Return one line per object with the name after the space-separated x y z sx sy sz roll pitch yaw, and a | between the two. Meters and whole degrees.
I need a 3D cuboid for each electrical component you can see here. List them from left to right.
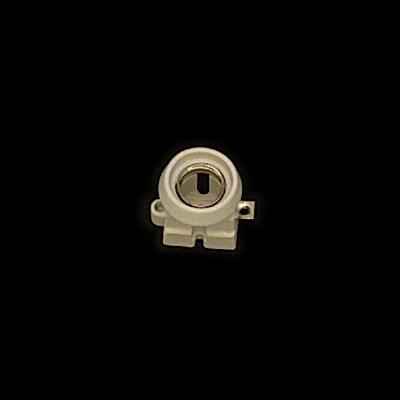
0.000 0.000 0.638 0.066 0.048 0.055 3 -25 2 | electrical component
